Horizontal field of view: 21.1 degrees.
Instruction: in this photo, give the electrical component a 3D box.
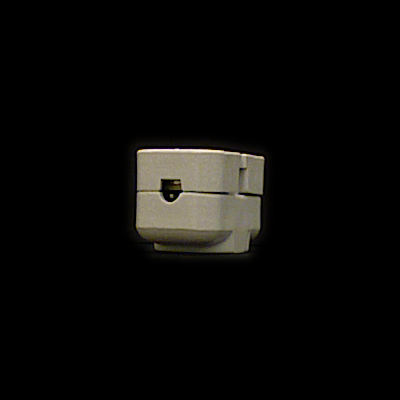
[{"bbox_3d":[0.000,0.000,0.657,0.053,0.059,0.096,2,0,22],"label":"electrical component"}]
